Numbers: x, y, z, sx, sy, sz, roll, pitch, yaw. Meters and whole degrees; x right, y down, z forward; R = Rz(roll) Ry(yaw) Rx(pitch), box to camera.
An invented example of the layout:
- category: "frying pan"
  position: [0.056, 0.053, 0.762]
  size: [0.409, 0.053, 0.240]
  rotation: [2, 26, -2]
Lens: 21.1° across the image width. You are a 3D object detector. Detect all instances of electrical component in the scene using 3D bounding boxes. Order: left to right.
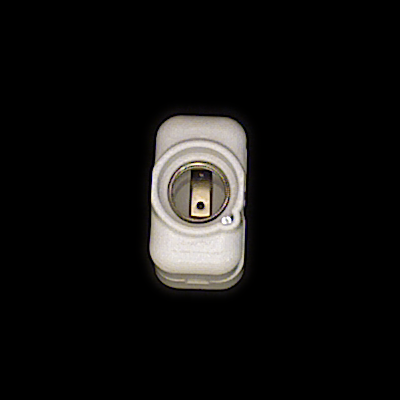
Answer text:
- category: "electrical component"
  position: [0.000, 0.000, 0.634]
  size: [0.054, 0.095, 0.059]
  rotation: [2, -16, 1]
